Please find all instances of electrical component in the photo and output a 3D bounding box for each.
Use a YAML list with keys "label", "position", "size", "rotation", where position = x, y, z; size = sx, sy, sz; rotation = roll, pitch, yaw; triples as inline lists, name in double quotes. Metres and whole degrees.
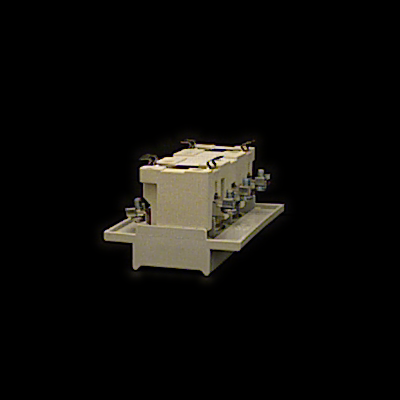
- label: "electrical component"
  position: [0.000, 0.000, 0.651]
  size: [0.078, 0.063, 0.121]
  rotation: [4, 11, 15]
